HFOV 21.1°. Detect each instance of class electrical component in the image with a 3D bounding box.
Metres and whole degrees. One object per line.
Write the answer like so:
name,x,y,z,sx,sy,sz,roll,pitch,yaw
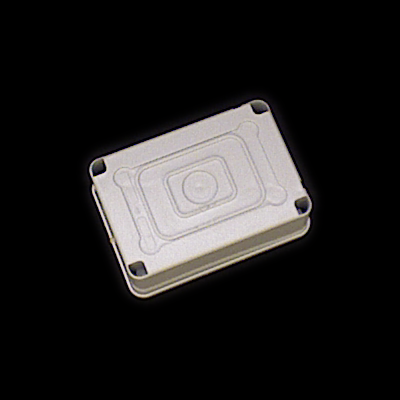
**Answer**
electrical component,0.000,0.000,0.627,0.113,0.078,0.057,-21,-15,-6
